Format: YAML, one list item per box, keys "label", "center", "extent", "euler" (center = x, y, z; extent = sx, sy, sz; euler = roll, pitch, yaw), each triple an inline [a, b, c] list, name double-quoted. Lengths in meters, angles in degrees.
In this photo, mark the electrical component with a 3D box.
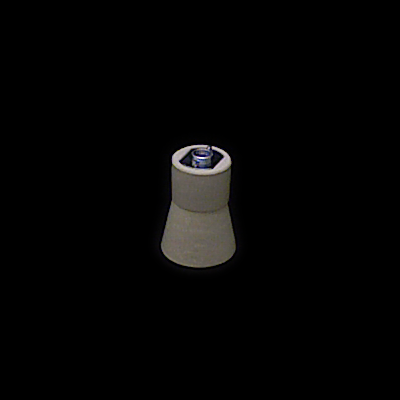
- label: "electrical component"
  center: [0.000, 0.000, 0.632]
  extent: [0.044, 0.066, 0.044]
  euler: [2, 32, -1]
